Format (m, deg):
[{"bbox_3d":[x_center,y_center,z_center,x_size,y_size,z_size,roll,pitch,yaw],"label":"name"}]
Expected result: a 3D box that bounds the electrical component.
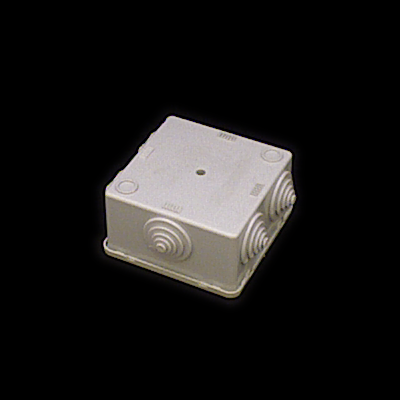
[{"bbox_3d":[0.000,0.000,0.635,0.099,0.049,0.099,19,45,18],"label":"electrical component"}]
